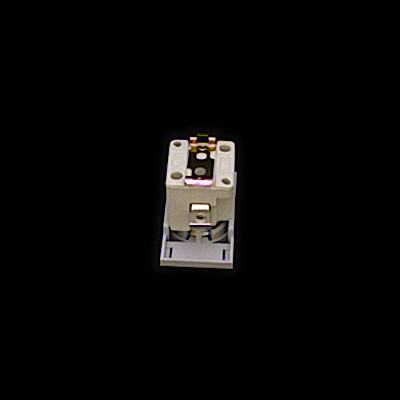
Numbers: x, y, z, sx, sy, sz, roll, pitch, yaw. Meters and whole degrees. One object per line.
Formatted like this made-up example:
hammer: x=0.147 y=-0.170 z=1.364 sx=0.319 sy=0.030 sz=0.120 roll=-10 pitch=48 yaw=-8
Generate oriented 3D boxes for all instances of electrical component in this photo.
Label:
electrical component: x=0.000 y=0.000 z=0.630 sx=0.042 sy=0.064 sz=0.080 roll=2 pitch=42 yaw=1
